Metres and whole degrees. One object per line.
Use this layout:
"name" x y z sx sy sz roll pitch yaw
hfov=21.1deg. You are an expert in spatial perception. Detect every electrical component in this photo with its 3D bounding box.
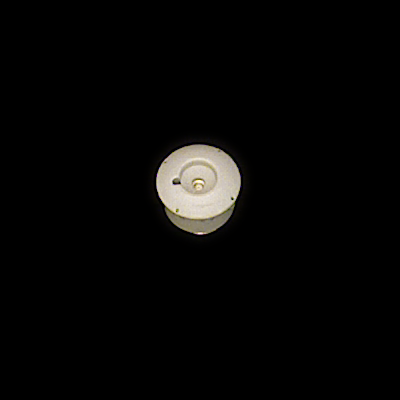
"electrical component" 0.000 0.000 0.632 0.048 0.048 0.062 0 -27 0
